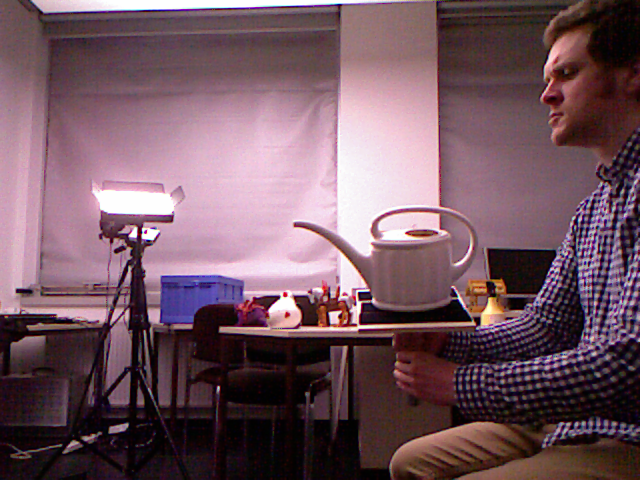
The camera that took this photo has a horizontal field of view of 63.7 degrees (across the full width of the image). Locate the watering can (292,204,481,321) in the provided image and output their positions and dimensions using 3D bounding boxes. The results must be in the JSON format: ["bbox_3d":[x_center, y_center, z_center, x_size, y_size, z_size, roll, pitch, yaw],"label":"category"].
[{"bbox_3d":[0.127,0.043,0.965,0.348,0.222,0.105,-3,16,-1],"label":"watering can"}]
